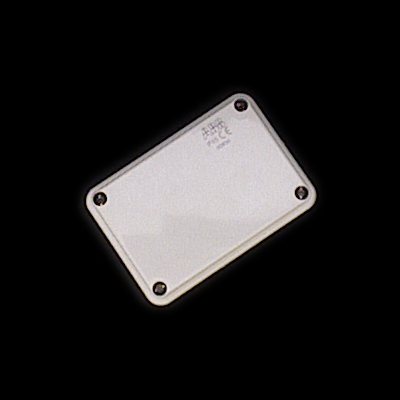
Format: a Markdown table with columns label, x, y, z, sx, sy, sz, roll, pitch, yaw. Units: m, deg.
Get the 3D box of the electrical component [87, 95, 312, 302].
| label | x | y | z | sx | sy | sz | roll | pitch | yaw |
| --- | --- | --- | --- | --- | --- | --- | --- | --- | --- |
| electrical component | 0.000 | 0.000 | 0.628 | 0.113 | 0.078 | 0.057 | -34 | -6 | -3 |
